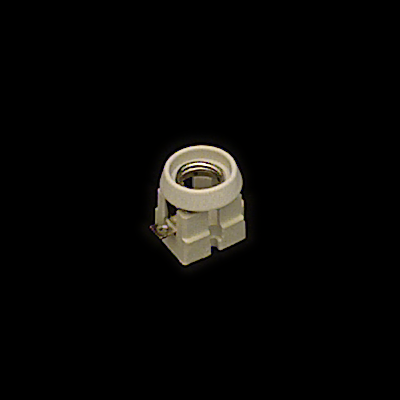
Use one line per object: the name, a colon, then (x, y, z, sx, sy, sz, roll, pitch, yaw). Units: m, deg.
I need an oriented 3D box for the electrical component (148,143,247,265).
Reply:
electrical component: (0.000, 0.000, 0.639, 0.067, 0.056, 0.048, -24, 46, -25)
